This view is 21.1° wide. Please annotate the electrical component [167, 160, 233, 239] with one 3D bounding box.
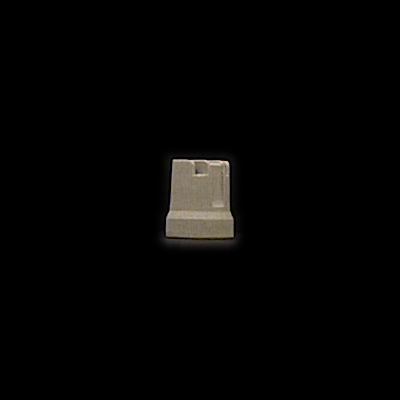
[{"bbox_3d":[0.000,0.000,0.649,0.040,0.046,0.040,1,1,0],"label":"electrical component"}]
